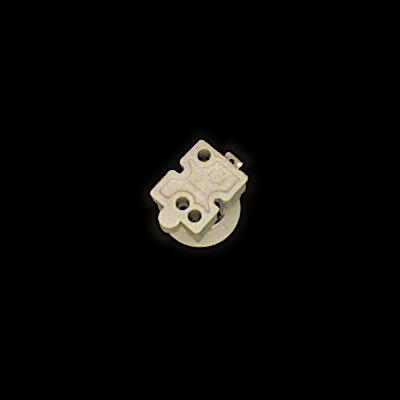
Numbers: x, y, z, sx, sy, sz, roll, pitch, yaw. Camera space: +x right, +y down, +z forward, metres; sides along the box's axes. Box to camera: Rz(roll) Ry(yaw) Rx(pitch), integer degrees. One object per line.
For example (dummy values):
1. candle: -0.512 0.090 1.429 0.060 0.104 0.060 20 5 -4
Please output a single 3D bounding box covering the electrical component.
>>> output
1. electrical component: 0.000 0.000 0.637 0.048 0.067 0.055 40 -13 12
